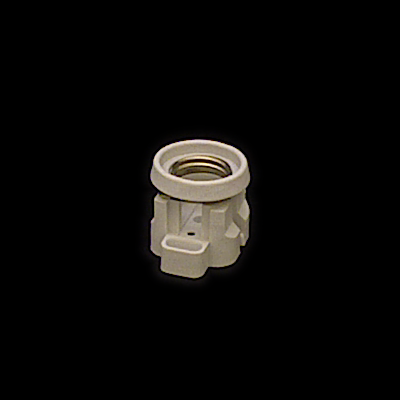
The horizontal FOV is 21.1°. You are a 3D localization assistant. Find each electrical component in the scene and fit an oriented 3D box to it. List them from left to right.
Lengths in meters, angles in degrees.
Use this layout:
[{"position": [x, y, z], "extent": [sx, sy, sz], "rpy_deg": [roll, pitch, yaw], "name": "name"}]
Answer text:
[{"position": [0.000, 0.000, 0.637], "extent": [0.057, 0.057, 0.077], "rpy_deg": [10, 33, 15], "name": "electrical component"}]
